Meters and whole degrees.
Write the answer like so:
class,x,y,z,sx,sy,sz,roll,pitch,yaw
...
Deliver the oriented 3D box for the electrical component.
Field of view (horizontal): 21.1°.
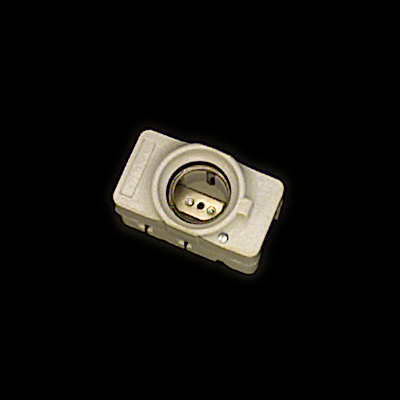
class,x,y,z,sx,sy,sz,roll,pitch,yaw
electrical component,0.000,0.000,0.636,0.089,0.050,0.055,21,-15,6
